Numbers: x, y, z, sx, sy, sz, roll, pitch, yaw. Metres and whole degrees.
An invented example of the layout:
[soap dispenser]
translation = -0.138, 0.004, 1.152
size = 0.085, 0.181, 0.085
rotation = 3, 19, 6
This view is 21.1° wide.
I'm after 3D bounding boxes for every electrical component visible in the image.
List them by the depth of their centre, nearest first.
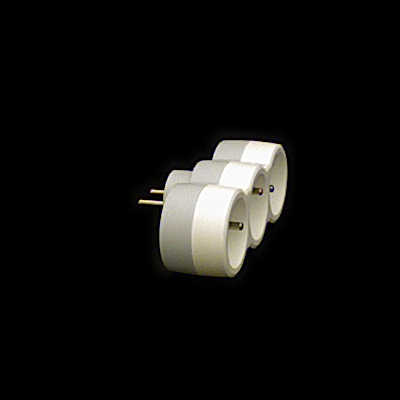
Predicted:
[electrical component]
translation = 0.000, 0.000, 0.650
size = 0.073, 0.053, 0.137
rotation = 7, 22, 17
